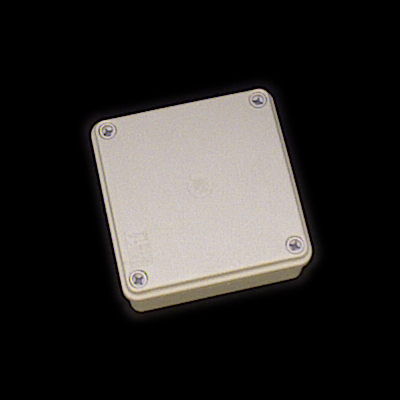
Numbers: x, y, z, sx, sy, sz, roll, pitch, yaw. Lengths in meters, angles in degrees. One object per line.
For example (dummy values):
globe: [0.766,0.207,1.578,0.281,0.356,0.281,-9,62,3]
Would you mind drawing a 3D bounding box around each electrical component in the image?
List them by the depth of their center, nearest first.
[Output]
electrical component: [0.000,0.000,0.630,0.109,0.109,0.056,-12,-17,-4]
